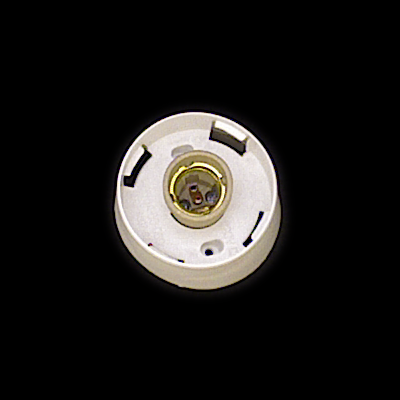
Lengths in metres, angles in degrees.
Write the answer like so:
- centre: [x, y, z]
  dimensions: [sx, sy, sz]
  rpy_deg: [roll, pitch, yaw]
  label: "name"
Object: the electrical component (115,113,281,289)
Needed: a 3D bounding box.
- centre: [0.000, 0.000, 0.624]
  dimensions: [0.099, 0.099, 0.063]
  rpy_deg: [0, -17, -1]
  label: "electrical component"
